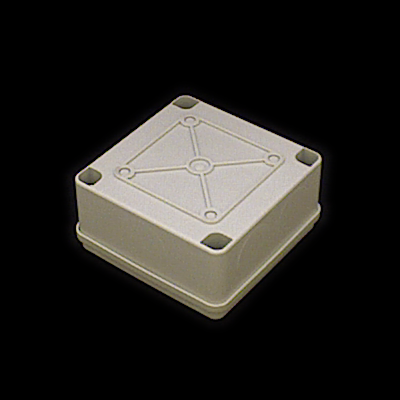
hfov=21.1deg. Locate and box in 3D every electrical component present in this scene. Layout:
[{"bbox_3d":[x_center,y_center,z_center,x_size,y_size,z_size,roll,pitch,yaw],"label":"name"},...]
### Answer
[{"bbox_3d":[0.000,0.000,0.630,0.108,0.056,0.108,27,48,26],"label":"electrical component"}]
